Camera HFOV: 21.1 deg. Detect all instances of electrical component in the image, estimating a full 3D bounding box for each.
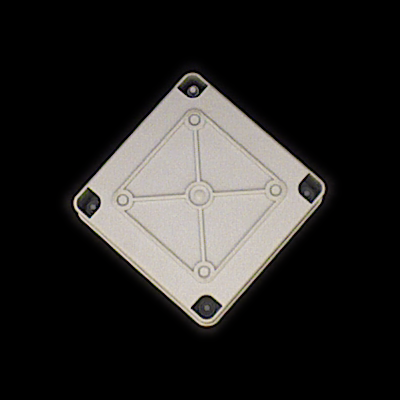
[{"bbox_3d":[0.000,0.000,0.629,0.109,0.109,0.056,41,-6,5],"label":"electrical component"}]
